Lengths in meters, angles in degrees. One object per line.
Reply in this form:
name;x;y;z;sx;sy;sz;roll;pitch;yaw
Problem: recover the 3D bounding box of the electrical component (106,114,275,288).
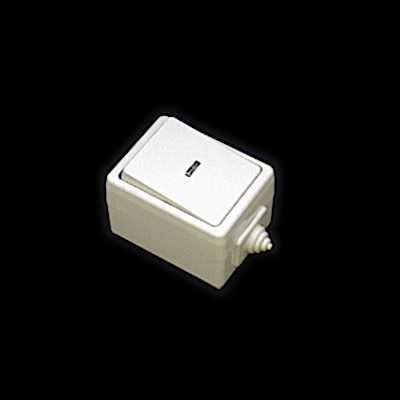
electrical component;0.000;0.000;0.627;0.096;0.062;0.061;27;-33;19
